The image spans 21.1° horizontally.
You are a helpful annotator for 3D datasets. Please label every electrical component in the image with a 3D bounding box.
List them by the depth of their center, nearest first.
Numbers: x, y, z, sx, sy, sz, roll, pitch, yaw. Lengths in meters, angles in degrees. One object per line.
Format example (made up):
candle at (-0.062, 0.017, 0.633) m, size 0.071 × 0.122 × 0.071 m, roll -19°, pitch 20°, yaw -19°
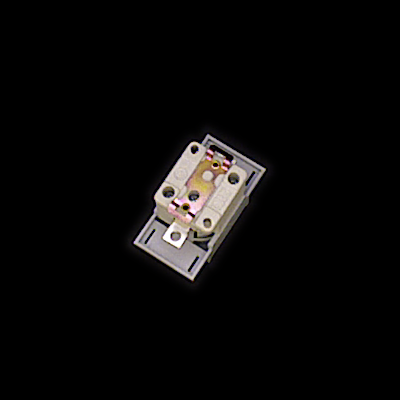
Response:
electrical component at (0.000, 0.000, 0.625) m, size 0.042 × 0.081 × 0.063 m, roll 31°, pitch -14°, yaw 9°
